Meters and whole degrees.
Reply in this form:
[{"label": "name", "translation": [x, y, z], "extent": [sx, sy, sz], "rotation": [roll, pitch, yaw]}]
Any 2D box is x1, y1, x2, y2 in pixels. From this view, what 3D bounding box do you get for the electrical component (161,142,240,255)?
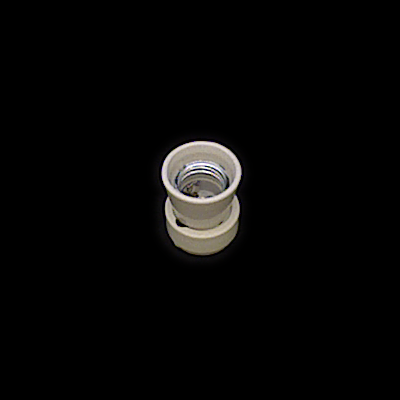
[{"label": "electrical component", "translation": [0.000, 0.000, 0.629], "extent": [0.045, 0.044, 0.055], "rotation": [0, -38, 0]}]
